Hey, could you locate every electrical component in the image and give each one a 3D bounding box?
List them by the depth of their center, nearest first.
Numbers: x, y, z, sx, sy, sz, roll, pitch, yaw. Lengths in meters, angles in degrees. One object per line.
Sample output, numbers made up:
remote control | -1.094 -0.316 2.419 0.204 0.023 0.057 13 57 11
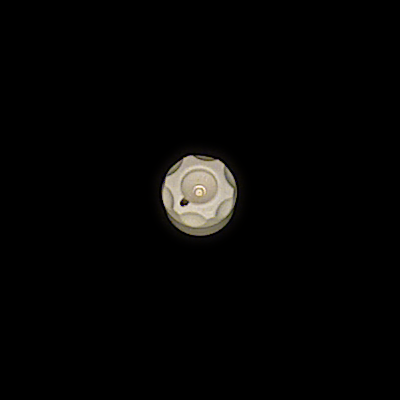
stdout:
electrical component | 0.000 0.000 0.634 0.043 0.043 0.062 0 -17 0
